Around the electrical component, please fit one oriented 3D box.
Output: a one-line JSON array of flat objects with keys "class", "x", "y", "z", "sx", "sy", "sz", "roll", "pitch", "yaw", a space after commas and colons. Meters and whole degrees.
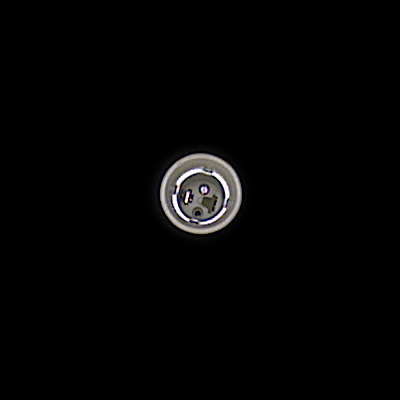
[{"class": "electrical component", "x": 0.000, "y": 0.000, "z": 0.625, "sx": 0.044, "sy": 0.044, "sz": 0.065, "roll": 0, "pitch": -7, "yaw": 1}]
